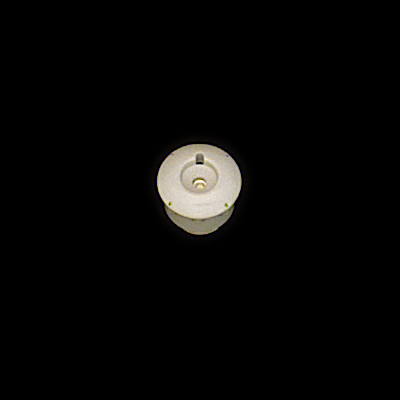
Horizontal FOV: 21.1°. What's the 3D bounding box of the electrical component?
[{"bbox_3d":[0.000,0.000,0.633,0.048,0.048,0.062,0,-27,0],"label":"electrical component"}]
